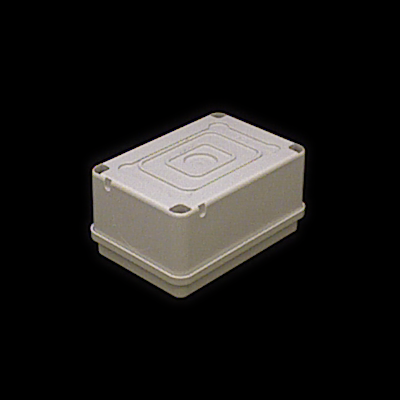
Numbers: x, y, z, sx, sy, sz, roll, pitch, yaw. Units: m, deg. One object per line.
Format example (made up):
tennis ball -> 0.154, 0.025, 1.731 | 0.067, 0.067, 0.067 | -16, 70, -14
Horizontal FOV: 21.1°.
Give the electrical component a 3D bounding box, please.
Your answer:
electrical component -> 0.000, 0.000, 0.635 | 0.077, 0.058, 0.113 | 27, 39, 36
